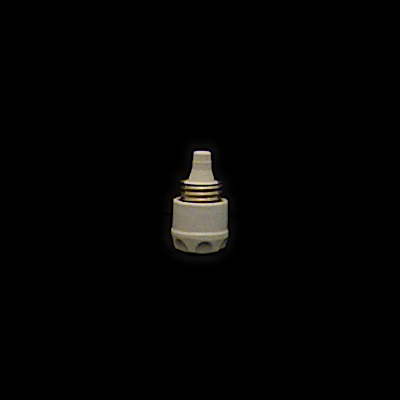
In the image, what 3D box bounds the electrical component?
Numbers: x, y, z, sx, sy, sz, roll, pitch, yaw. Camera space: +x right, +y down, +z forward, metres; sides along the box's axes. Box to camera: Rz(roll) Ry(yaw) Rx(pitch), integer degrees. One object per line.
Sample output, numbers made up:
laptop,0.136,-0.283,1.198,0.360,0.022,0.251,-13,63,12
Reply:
electrical component,0.000,0.000,0.656,0.035,0.062,0.035,2,11,0
